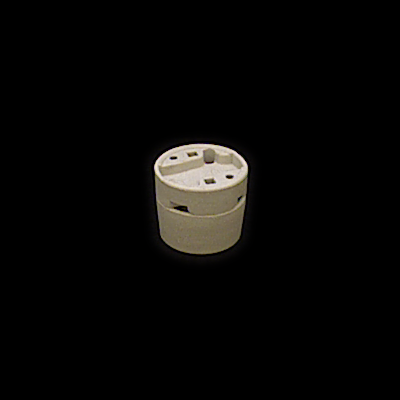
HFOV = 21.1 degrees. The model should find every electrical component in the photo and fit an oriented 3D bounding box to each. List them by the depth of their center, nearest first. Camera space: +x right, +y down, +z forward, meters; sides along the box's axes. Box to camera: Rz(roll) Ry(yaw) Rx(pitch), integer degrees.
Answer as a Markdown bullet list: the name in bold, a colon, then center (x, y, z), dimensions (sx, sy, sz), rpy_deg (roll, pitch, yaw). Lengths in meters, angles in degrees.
- **electrical component**: center (0.000, 0.000, 0.637), dimensions (0.055, 0.047, 0.055), rpy_deg (1, 31, 0)
